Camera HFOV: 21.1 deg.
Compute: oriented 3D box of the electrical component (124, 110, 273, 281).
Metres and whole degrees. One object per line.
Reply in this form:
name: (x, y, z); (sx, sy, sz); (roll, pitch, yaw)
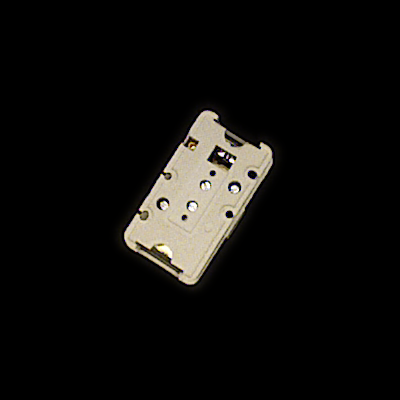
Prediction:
electrical component: (0.000, 0.000, 0.637); (0.050, 0.090, 0.055); (32, -5, 4)
